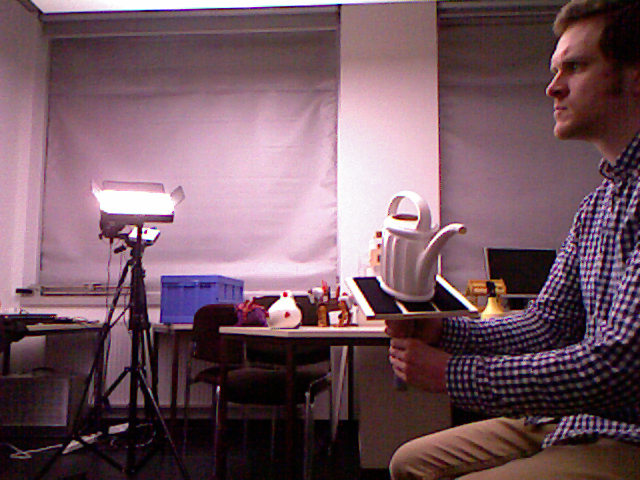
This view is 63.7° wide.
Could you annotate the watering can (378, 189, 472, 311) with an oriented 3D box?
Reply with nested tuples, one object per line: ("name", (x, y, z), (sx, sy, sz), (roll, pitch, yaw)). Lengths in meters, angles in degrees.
("watering can", (0.176, 0.027, 0.941), (0.104, 0.222, 0.352), (-3, 14, -10))
